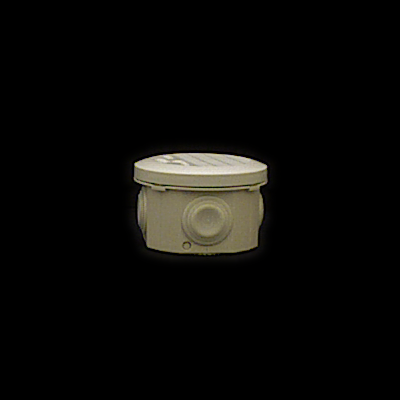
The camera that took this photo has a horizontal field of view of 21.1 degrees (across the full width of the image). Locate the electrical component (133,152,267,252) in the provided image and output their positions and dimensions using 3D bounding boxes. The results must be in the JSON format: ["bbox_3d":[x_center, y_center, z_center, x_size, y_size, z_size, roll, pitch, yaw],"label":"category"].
[{"bbox_3d":[0.000,0.000,0.647,0.080,0.051,0.079,1,10,0],"label":"electrical component"}]
